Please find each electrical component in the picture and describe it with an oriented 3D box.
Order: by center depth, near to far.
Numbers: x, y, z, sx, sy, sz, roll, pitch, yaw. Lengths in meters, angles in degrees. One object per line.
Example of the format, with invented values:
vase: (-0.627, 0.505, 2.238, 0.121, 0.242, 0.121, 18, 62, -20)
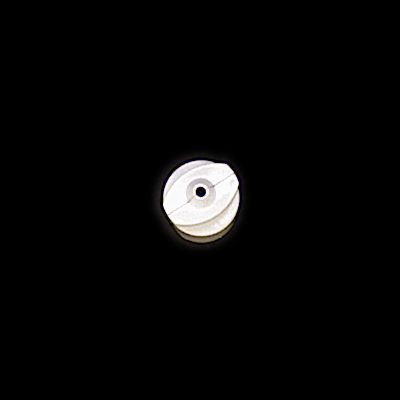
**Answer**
electrical component: (0.000, 0.000, 0.616, 0.043, 0.043, 0.080, 0, -6, 1)
